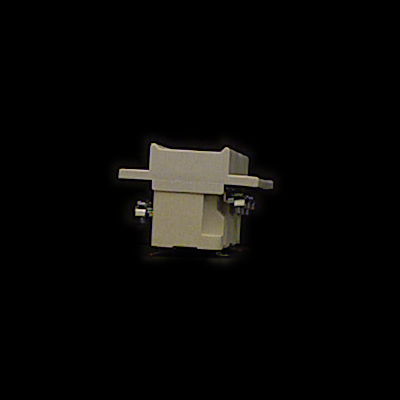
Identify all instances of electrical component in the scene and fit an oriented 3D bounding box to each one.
[{"bbox_3d":[0.000,0.000,0.663,0.078,0.063,0.121,3,1,8],"label":"electrical component"}]
